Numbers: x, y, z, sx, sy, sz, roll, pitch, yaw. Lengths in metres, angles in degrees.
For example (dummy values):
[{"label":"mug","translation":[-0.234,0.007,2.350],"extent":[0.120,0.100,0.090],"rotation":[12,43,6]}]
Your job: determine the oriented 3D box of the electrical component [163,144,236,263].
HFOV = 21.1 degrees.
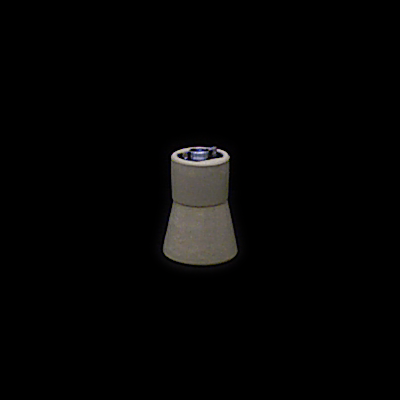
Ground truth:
[{"label":"electrical component","translation":[0.000,0.000,0.640],"extent":[0.044,0.066,0.044],"rotation":[0,21,0]}]
